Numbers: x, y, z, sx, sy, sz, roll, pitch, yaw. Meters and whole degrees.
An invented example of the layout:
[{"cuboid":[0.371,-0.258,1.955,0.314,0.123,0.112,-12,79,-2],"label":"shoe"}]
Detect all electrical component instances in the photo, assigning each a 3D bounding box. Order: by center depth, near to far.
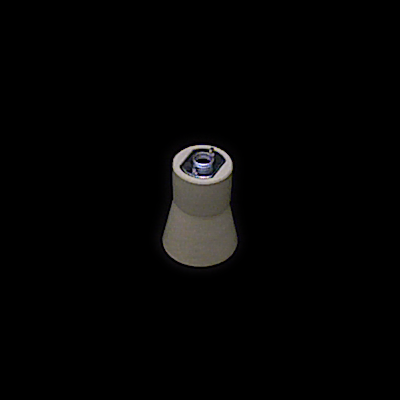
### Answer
[{"cuboid":[0.000,0.000,0.628,0.044,0.066,0.044,1,42,-1],"label":"electrical component"}]
